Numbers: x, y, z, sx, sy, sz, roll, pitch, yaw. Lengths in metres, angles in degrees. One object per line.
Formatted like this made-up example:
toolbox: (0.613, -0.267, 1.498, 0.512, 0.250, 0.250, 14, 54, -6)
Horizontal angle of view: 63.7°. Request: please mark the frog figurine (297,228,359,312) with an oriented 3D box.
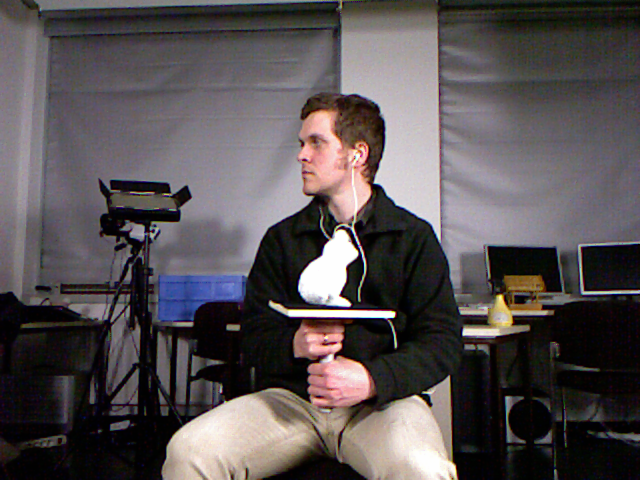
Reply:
frog figurine: (0.016, 0.055, 1.031, 0.123, 0.159, 0.137, 2, 0, 6)
